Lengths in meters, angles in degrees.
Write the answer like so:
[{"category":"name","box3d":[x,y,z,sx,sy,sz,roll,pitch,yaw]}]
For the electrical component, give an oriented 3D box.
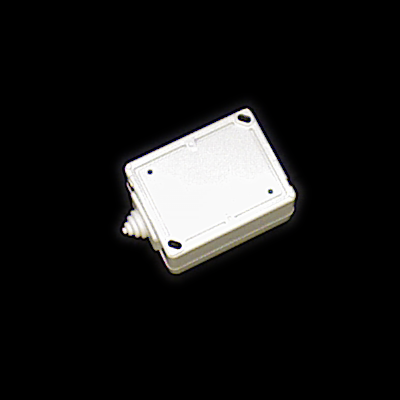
[{"category":"electrical component","box3d":[0.000,0.000,0.624,0.096,0.062,0.060,-26,-14,-8]}]
